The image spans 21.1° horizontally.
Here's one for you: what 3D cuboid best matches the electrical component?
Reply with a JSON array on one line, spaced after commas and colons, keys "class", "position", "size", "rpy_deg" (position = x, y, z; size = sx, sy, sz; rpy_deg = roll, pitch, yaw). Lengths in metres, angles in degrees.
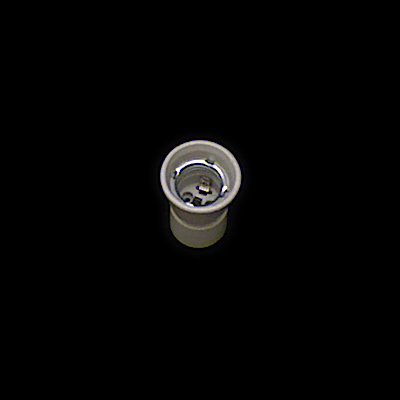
[{"class": "electrical component", "position": [0.000, 0.000, 0.624], "size": [0.044, 0.044, 0.065], "rpy_deg": [0, -27, -1]}]
